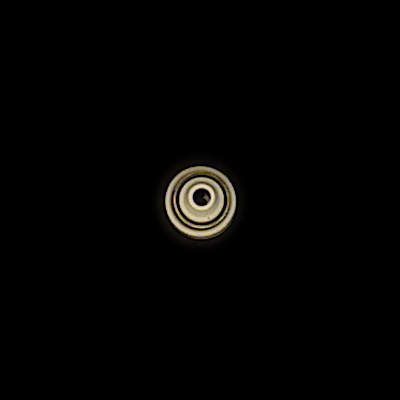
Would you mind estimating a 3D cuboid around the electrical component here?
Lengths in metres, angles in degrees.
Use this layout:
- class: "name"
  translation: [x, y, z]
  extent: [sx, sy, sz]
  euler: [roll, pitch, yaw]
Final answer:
- class: "electrical component"
  translation: [0.000, 0.000, 0.635]
  extent: [0.043, 0.043, 0.062]
  euler: [0, -5, 0]
